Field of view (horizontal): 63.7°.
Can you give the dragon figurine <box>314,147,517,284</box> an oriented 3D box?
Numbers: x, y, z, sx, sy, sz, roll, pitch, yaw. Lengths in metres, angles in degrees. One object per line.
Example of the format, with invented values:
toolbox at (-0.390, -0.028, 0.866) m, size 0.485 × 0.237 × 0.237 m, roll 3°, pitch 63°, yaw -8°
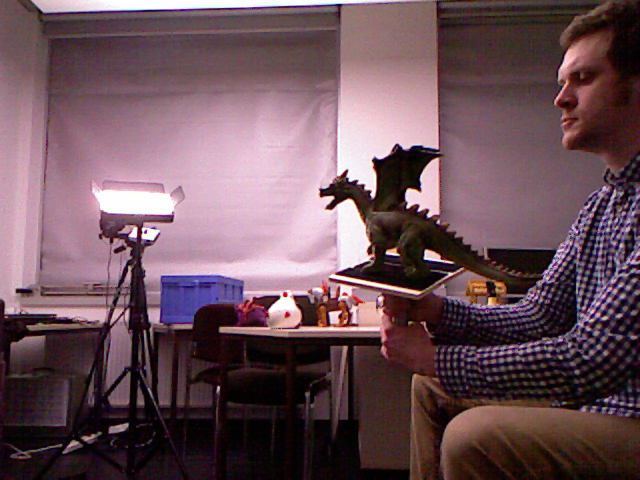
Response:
dragon figurine at (0.168, -0.056, 0.989) m, size 0.411 × 0.240 × 0.124 m, roll 7°, pitch 23°, yaw 34°
